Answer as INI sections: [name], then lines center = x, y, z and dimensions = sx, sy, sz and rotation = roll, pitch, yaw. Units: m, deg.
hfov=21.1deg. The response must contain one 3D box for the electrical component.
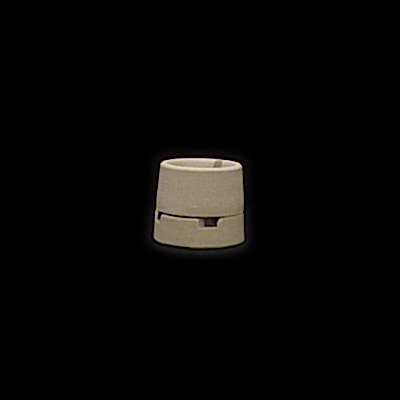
[electrical component]
center = 0.000, 0.000, 0.647
dimensions = 0.055, 0.047, 0.055
rotation = 2, 10, 0
